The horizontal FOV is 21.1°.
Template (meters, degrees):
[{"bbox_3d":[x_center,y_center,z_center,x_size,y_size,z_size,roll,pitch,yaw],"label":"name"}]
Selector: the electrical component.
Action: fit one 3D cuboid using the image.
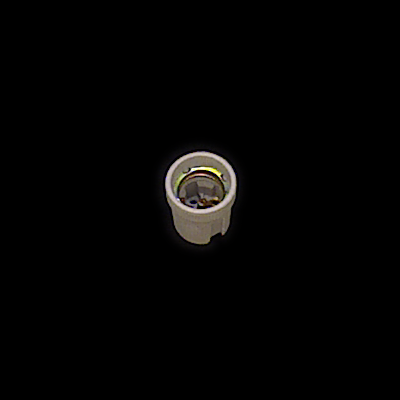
[{"bbox_3d":[0.000,0.000,0.629,0.040,0.040,0.046,0,-28,0],"label":"electrical component"}]
